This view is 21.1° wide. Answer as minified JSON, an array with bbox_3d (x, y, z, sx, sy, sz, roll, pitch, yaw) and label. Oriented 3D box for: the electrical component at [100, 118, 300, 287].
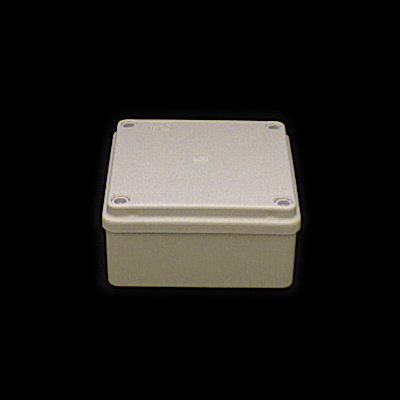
[{"bbox_3d":[0.000,0.000,0.634,0.109,0.057,0.107,1,32,-1],"label":"electrical component"}]
